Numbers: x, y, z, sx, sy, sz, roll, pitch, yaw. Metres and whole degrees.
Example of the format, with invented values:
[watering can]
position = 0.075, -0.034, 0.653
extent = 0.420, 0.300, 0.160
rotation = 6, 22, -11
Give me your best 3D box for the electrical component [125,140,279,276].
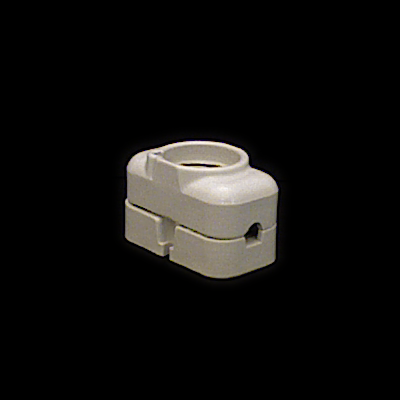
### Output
[electrical component]
position = 0.000, 0.000, 0.645
extent = 0.054, 0.060, 0.093
rotation = -18, 28, -40
